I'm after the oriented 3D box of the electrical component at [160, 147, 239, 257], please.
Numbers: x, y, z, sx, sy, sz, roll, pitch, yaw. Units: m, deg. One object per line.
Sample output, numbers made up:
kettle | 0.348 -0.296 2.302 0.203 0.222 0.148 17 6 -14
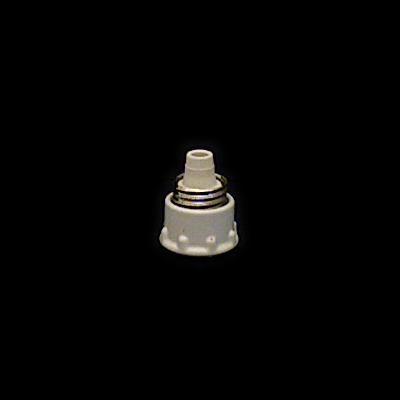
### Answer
electrical component | 0.000 0.000 0.644 0.048 0.063 0.047 1 23 0
